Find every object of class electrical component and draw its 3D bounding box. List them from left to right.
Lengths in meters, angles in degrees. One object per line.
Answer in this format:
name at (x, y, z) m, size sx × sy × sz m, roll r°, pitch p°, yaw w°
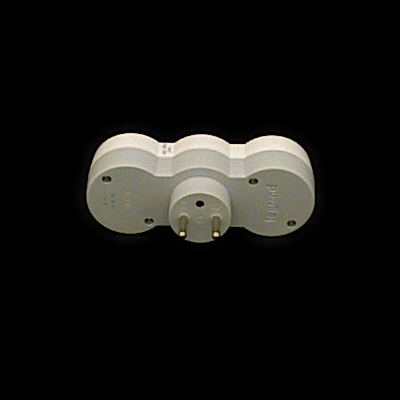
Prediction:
electrical component at (0.000, 0.000, 0.641) m, size 0.138 × 0.053 × 0.073 m, roll 1°, pitch 34°, yaw 0°
